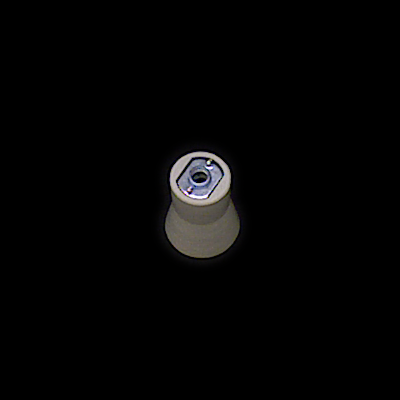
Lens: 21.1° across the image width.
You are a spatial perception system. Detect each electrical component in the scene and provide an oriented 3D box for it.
[{"bbox_3d":[0.000,0.000,0.625,0.044,0.044,0.065,0,-28,1],"label":"electrical component"}]
